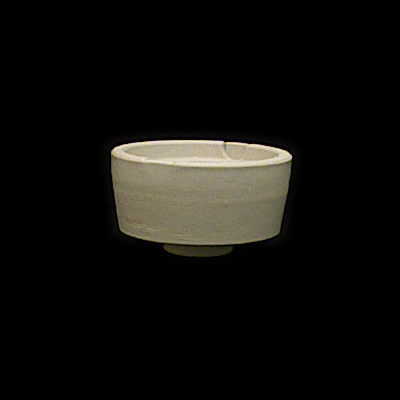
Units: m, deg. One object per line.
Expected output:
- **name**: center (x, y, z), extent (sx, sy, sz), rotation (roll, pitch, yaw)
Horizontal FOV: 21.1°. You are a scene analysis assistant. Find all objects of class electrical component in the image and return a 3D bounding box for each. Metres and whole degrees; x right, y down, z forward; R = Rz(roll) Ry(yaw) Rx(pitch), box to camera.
- **electrical component**: center (0.000, 0.000, 0.647), extent (0.108, 0.061, 0.107), rotation (2, 10, 0)
